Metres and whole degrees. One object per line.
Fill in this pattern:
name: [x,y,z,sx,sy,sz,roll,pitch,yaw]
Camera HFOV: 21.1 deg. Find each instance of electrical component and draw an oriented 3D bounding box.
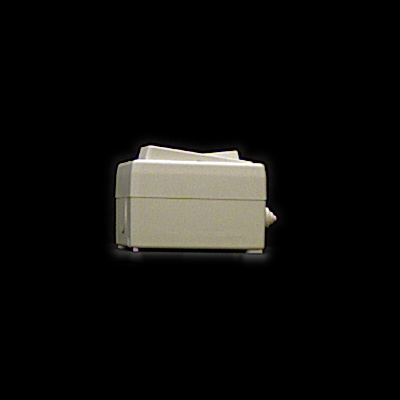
electrical component: [0.000,0.000,0.650,0.096,0.061,0.061,1,0,-13]
